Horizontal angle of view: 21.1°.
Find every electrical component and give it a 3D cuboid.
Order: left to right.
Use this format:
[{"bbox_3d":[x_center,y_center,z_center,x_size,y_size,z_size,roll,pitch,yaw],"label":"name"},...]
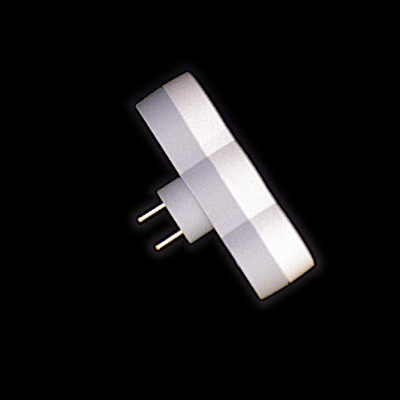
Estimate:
[{"bbox_3d":[0.000,0.000,0.631,0.074,0.138,0.052,-33,-5,-2],"label":"electrical component"}]
